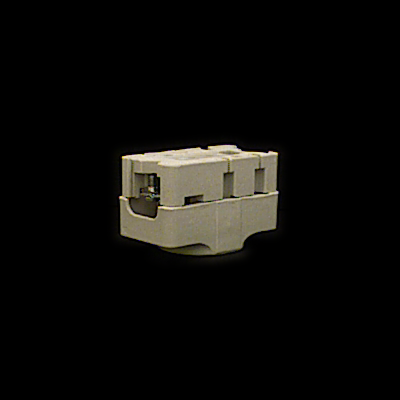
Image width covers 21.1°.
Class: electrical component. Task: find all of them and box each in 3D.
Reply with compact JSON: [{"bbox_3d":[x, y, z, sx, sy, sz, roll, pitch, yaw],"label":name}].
[{"bbox_3d":[0.000,0.000,0.652,0.090,0.056,0.049,-8,14,-42],"label":"electrical component"}]
